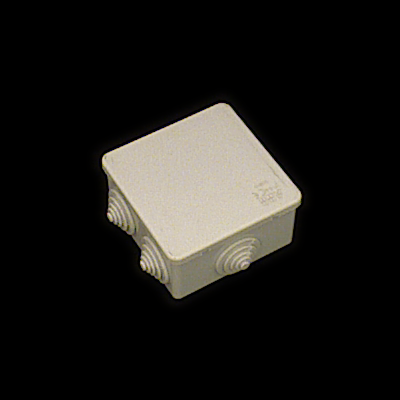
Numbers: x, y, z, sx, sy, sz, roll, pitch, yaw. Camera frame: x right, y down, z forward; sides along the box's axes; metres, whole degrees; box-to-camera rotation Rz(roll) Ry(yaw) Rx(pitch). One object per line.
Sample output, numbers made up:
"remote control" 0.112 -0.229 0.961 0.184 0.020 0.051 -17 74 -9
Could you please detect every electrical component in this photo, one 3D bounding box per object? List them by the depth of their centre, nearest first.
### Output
"electrical component" 0.000 0.000 0.641 0.100 0.099 0.049 -25 -32 -18
